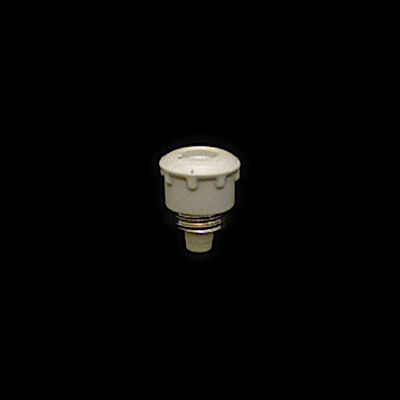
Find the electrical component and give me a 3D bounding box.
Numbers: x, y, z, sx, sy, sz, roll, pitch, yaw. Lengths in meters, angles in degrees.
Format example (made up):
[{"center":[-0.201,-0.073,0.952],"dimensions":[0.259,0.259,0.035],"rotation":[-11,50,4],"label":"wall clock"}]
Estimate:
[{"center":[0.000,0.000,0.644],"dimensions":[0.048,0.062,0.047],"rotation":[1,22,0],"label":"electrical component"}]
